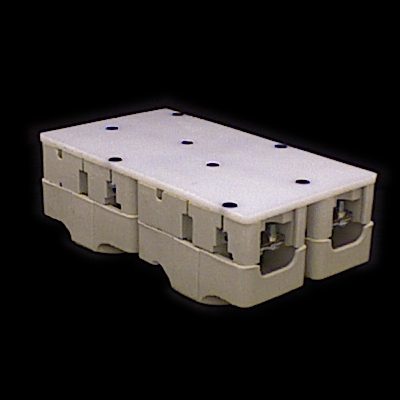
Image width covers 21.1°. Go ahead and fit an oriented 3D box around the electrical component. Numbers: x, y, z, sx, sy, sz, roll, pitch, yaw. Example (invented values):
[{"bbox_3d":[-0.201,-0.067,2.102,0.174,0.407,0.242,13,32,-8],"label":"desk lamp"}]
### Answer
[{"bbox_3d":[0.000,0.000,0.639,0.105,0.061,0.184,-17,27,-40],"label":"electrical component"}]
